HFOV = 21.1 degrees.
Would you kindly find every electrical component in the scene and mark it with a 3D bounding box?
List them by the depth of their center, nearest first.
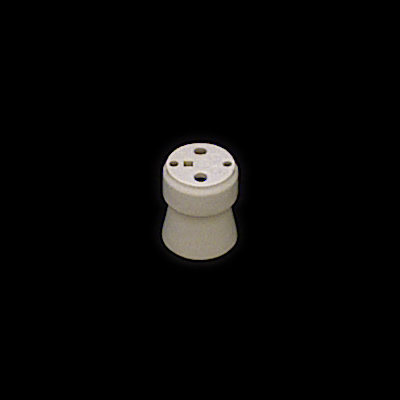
[{"bbox_3d":[0.000,0.000,0.633,0.045,0.055,0.044,1,42,-1],"label":"electrical component"}]
